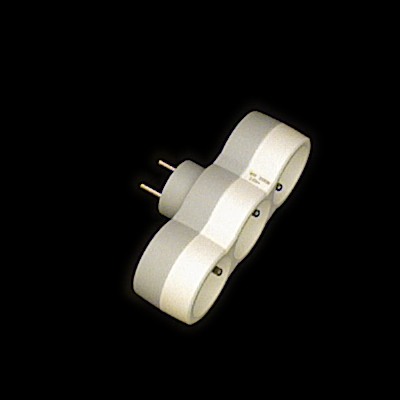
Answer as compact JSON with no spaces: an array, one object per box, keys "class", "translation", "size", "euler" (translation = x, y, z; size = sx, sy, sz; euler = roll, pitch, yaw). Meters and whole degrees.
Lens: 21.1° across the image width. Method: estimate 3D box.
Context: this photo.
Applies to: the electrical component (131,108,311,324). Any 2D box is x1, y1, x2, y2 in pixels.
[{"class":"electrical component","translation":[0.000,0.000,0.639],"size":[0.073,0.139,0.052],"euler":[30,-23,15]}]
